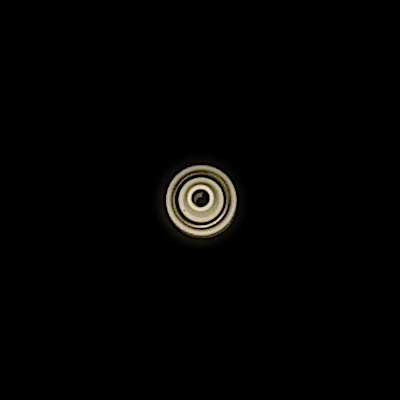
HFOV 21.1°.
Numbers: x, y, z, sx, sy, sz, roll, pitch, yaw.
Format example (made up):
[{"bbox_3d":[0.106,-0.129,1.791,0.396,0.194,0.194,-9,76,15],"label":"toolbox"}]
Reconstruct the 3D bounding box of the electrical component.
[{"bbox_3d":[0.000,0.000,0.635,0.043,0.043,0.062,0,-4,1],"label":"electrical component"}]
